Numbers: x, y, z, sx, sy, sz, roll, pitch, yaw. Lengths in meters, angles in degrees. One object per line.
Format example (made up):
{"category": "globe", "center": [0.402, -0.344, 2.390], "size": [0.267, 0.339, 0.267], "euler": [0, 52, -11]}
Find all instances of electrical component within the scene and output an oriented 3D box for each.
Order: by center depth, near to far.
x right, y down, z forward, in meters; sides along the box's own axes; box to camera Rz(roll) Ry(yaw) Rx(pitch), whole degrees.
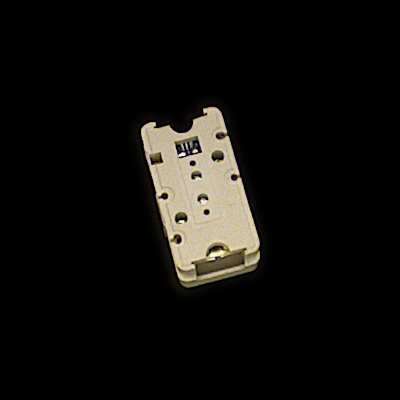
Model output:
{"category": "electrical component", "center": [0.000, 0.000, 0.636], "size": [0.050, 0.090, 0.055], "euler": [-15, -16, -3]}
